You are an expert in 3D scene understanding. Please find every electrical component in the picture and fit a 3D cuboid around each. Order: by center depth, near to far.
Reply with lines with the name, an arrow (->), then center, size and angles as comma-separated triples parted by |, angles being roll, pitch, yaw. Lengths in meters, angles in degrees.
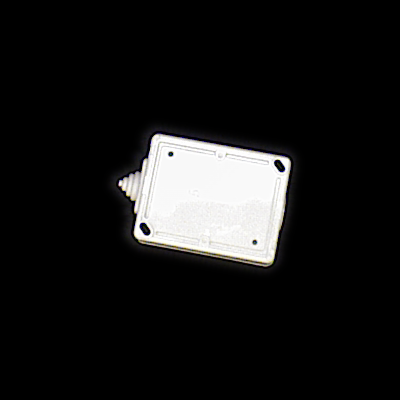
electrical component -> 0.000, 0.000, 0.627 | 0.096, 0.062, 0.061 | 10, -6, 1
